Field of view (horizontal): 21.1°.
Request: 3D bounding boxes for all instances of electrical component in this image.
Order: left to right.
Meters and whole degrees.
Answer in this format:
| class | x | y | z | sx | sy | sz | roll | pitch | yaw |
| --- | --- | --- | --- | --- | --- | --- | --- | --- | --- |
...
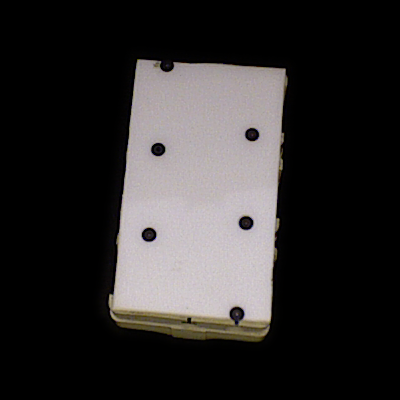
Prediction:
| class | x | y | z | sx | sy | sz | roll | pitch | yaw |
| --- | --- | --- | --- | --- | --- | --- | --- | --- | --- |
| electrical component | 0.000 | 0.000 | 0.629 | 0.089 | 0.150 | 0.062 | 5 | -16 | 2 |
